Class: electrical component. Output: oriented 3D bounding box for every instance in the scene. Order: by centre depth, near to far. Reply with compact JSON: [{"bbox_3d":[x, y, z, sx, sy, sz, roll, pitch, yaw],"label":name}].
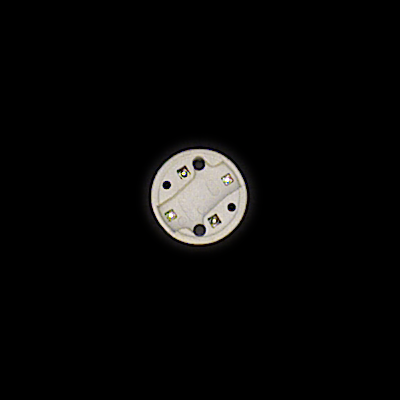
[{"bbox_3d":[0.000,0.000,0.635,0.055,0.056,0.047,0,-7,0],"label":"electrical component"}]
